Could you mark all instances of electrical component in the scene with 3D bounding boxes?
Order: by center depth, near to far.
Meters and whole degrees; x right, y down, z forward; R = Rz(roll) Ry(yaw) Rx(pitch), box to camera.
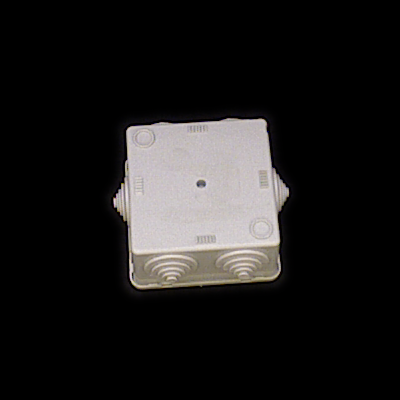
[{"bbox_3d":[0.000,0.000,0.631,0.100,0.099,0.048,-3,-27,-2],"label":"electrical component"}]
